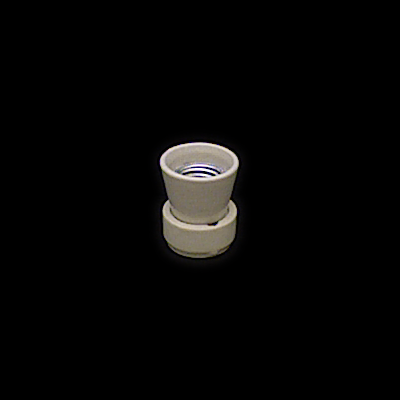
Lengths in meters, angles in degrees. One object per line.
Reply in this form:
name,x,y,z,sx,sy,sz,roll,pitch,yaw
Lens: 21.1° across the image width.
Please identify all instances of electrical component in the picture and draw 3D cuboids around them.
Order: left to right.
electrical component,0.000,0.000,0.633,0.045,0.056,0.044,0,31,0
